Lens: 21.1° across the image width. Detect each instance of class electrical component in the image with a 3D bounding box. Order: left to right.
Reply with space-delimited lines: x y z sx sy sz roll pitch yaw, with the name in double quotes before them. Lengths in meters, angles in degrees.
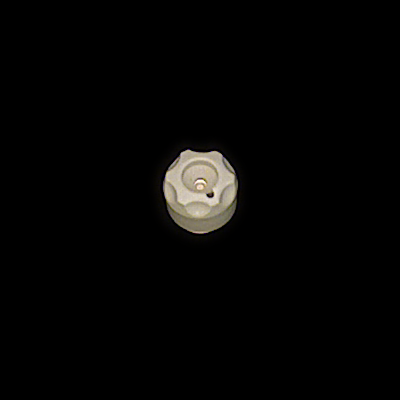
"electrical component" 0.000 0.000 0.634 0.043 0.043 0.062 0 -27 1
